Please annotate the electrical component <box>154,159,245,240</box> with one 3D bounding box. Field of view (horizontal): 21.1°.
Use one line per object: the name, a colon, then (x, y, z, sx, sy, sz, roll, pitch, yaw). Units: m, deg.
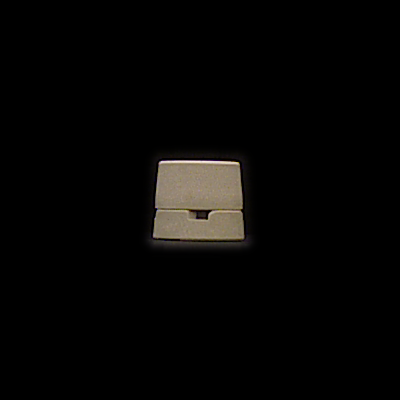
electrical component: (0.000, 0.000, 0.649, 0.055, 0.047, 0.055, 0, 1, 0)
